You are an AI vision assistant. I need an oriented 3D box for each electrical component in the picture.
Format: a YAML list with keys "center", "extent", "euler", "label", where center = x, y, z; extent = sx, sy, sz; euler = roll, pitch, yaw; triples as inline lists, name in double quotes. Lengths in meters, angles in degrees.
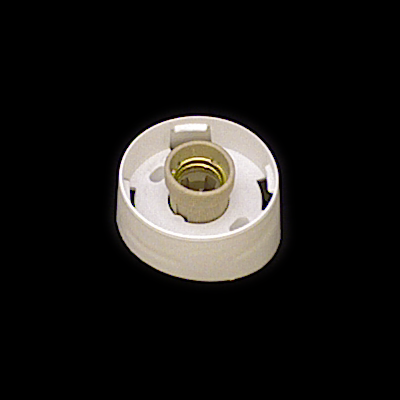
- center: [0.000, 0.000, 0.626]
  extent: [0.099, 0.098, 0.064]
  euler: [0, -38, -1]
  label: "electrical component"
